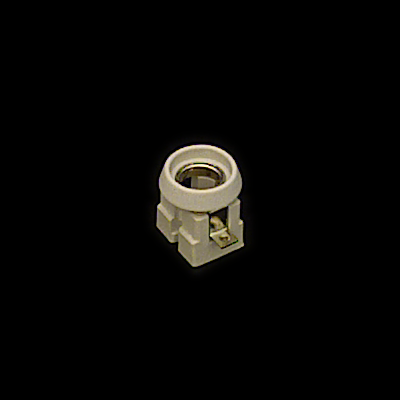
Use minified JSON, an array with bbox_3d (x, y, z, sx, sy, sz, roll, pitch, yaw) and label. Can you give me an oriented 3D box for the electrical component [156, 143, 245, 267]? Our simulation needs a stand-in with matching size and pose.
[{"bbox_3d":[0.000,0.000,0.640,0.048,0.056,0.065,-26,49,-23],"label":"electrical component"}]
